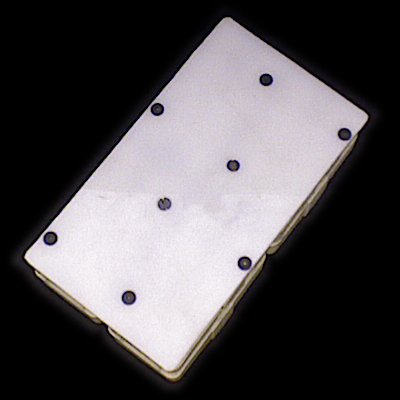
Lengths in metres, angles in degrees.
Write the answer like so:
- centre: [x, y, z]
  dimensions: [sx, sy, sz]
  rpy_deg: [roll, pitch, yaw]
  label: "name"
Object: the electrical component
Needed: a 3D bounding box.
- centre: [0.000, 0.000, 0.625]
  dimensions: [0.105, 0.187, 0.060]
  rpy_deg: [36, -14, 10]
  label: "electrical component"
